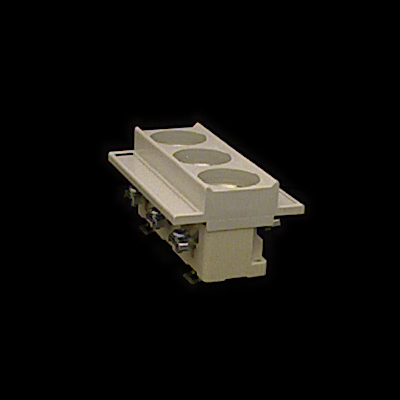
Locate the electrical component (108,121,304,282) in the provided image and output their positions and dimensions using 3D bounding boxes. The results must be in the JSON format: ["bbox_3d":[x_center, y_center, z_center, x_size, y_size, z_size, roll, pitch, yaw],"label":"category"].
[{"bbox_3d":[0.000,0.000,0.653,0.079,0.064,0.119,-6,22,-21],"label":"electrical component"}]
